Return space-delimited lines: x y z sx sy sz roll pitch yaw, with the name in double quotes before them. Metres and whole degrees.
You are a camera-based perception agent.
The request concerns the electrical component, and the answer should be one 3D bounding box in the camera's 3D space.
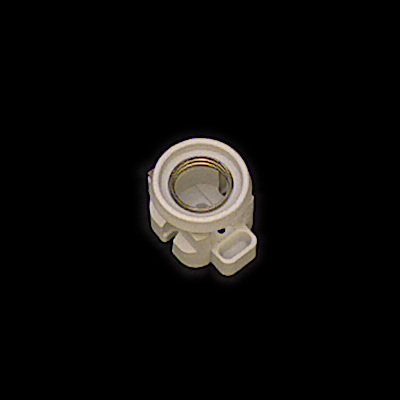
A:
"electrical component" 0.000 0.000 0.628 0.058 0.078 0.057 -37 -21 -17
